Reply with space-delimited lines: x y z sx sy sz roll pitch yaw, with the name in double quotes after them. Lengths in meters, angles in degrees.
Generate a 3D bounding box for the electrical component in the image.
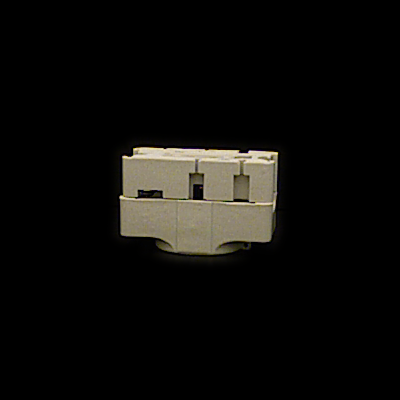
0.000 0.000 0.652 0.089 0.056 0.050 3 11 6 "electrical component"
